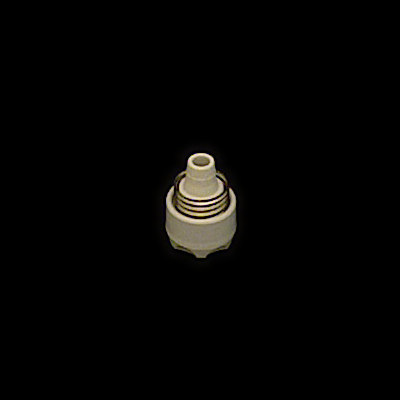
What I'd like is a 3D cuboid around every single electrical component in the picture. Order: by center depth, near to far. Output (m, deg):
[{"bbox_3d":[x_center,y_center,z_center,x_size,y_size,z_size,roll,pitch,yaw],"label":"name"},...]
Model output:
[{"bbox_3d":[0.000,0.000,0.639,0.043,0.062,0.043,1,41,0],"label":"electrical component"}]
